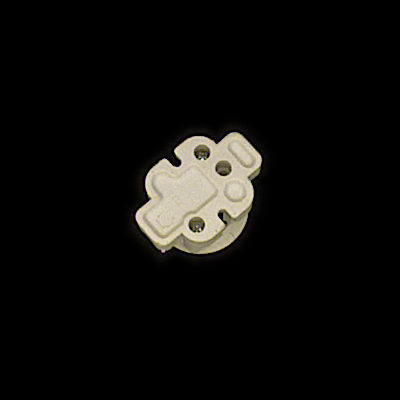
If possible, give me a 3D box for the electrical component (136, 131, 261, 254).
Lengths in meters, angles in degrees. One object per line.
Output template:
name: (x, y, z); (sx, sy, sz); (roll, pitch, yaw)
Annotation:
electrical component: (0.000, 0.000, 0.635); (0.079, 0.058, 0.056); (-41, -11, -9)
